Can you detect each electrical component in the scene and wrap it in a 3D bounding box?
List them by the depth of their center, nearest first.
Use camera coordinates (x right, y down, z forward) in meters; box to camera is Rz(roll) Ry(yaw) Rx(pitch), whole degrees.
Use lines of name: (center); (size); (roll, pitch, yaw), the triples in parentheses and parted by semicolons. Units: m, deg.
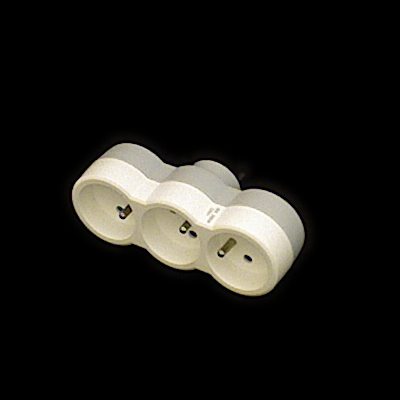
electrical component: (0.000, 0.000, 0.643); (0.137, 0.053, 0.073); (20, 44, 20)
